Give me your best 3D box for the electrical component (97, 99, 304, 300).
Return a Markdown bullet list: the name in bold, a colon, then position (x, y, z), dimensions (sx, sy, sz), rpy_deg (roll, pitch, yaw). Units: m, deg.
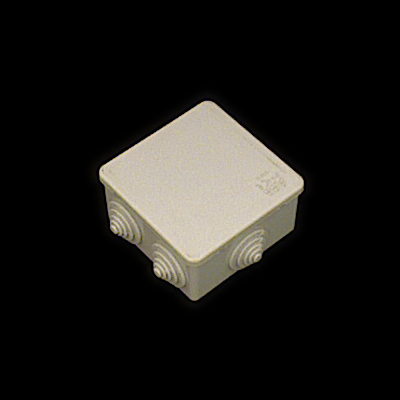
- **electrical component**: position (0.000, 0.000, 0.641), dimensions (0.100, 0.099, 0.049), rpy_deg (-34, -29, -23)
